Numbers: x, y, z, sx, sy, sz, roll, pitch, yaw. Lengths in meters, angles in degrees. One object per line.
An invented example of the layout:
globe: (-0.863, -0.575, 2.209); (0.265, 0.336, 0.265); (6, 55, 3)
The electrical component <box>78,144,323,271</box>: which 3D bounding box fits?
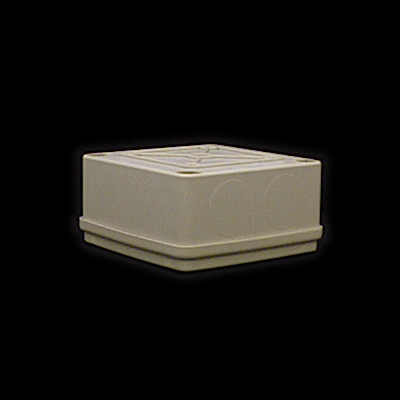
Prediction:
electrical component: (0.000, 0.000, 0.643); (0.109, 0.056, 0.107); (-7, 13, -38)
